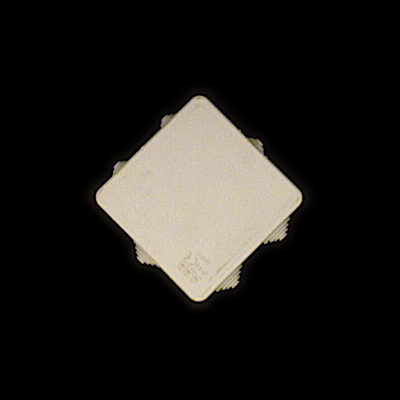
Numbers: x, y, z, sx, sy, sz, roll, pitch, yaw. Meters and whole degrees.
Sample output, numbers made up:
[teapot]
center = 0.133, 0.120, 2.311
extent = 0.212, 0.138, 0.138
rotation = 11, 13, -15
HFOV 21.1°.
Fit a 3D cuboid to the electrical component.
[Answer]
[electrical component]
center = 0.000, 0.000, 0.641
extent = 0.100, 0.100, 0.048
rotation = -44, -4, -4
